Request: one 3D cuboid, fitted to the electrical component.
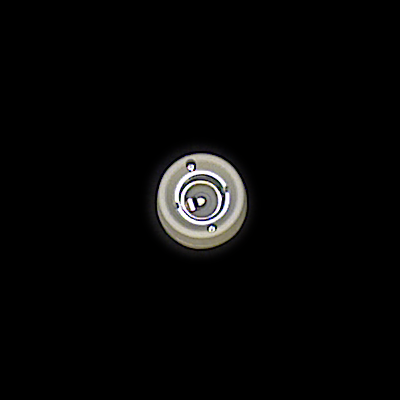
[{"bbox_3d":[0.000,0.000,0.634,0.055,0.055,0.047,0,-8,0],"label":"electrical component"}]
